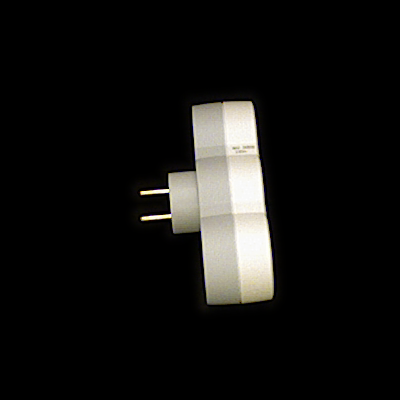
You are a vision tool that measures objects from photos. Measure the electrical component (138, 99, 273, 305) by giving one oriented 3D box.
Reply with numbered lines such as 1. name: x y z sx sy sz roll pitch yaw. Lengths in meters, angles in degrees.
1. electrical component: 0.000 0.000 0.639 0.074 0.137 0.052 -4 -37 -1
